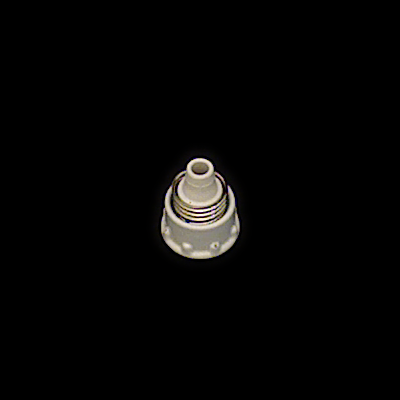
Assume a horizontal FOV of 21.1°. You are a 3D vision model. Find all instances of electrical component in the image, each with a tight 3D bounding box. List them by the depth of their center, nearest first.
[{"bbox_3d":[0.000,0.000,0.636,0.048,0.048,0.062,0,-38,-1],"label":"electrical component"}]
